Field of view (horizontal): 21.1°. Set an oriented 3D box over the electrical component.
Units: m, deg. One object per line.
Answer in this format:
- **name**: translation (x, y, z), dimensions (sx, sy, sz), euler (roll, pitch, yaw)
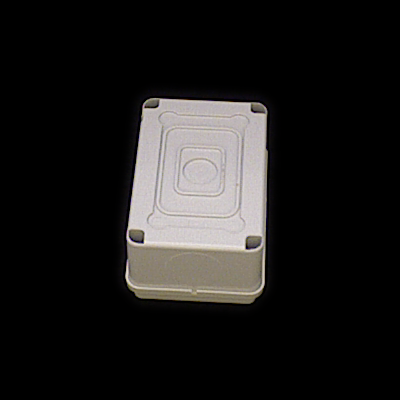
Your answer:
- **electrical component**: translation (0.000, 0.000, 0.629), dimensions (0.078, 0.112, 0.057), euler (3, -37, 1)
